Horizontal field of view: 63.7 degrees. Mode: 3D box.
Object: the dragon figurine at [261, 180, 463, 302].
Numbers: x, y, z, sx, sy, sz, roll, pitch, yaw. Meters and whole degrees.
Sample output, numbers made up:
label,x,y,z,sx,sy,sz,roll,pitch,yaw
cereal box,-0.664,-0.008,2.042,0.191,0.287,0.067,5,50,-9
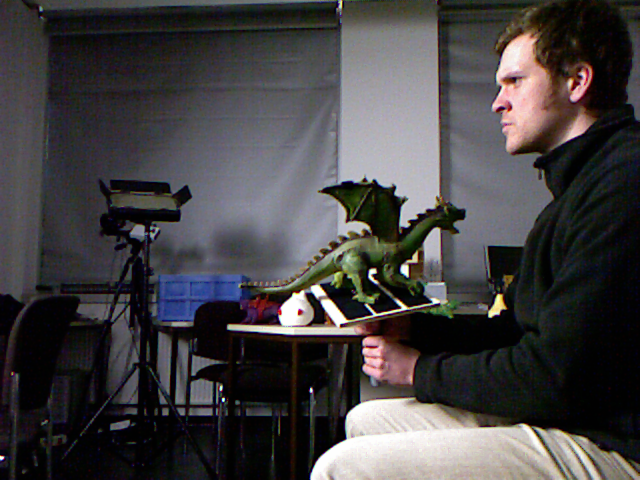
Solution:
label,x,y,z,sx,sy,sz,roll,pitch,yaw
dragon figurine,0.077,-0.004,1.001,0.411,0.239,0.124,-5,22,-2
